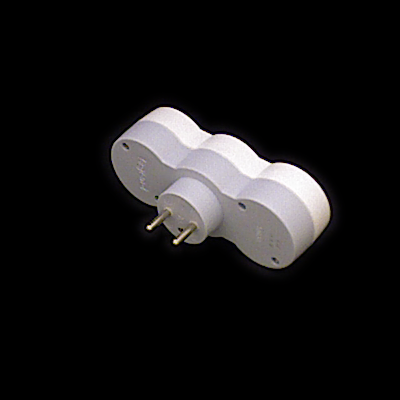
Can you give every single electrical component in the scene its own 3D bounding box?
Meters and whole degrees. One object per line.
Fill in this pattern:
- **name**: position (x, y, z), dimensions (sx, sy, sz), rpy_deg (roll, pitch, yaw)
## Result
- **electrical component**: position (0.000, 0.000, 0.633), dimensions (0.138, 0.052, 0.073), rpy_deg (28, 50, 25)
